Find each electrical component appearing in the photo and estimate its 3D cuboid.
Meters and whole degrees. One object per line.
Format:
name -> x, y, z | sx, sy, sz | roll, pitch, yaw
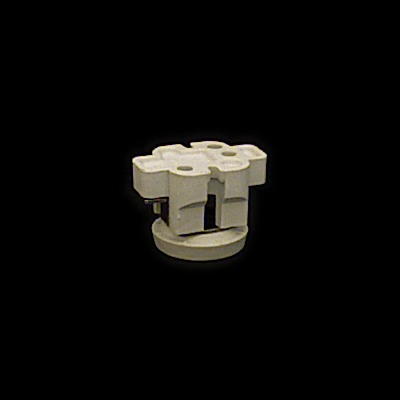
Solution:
electrical component -> 0.000, 0.000, 0.644 | 0.079, 0.057, 0.057 | -9, 25, -21
